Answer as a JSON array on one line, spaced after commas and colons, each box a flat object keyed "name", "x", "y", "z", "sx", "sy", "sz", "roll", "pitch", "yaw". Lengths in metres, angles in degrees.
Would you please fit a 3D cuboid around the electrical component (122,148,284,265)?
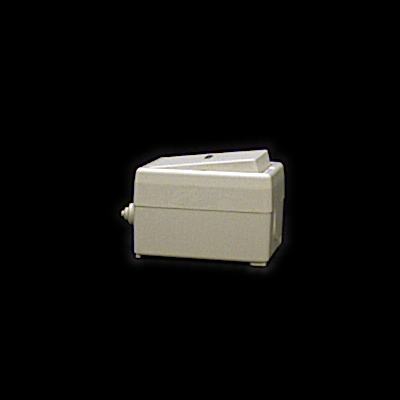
[{"name": "electrical component", "x": 0.000, "y": 0.000, "z": 0.645, "sx": 0.096, "sy": 0.061, "sz": 0.061, "roll": 3, "pitch": 11, "yaw": 11}]
